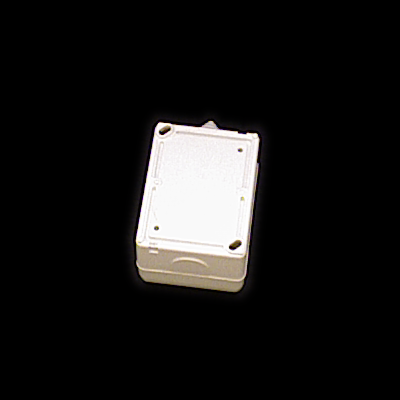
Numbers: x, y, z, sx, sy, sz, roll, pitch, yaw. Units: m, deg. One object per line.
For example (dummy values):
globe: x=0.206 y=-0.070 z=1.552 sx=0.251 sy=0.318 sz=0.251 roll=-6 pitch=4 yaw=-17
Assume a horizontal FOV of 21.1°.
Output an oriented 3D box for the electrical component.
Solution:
electrical component: x=0.000 y=0.000 z=0.628 sx=0.062 sy=0.096 sz=0.061 roll=6 pitch=-28 yaw=3
